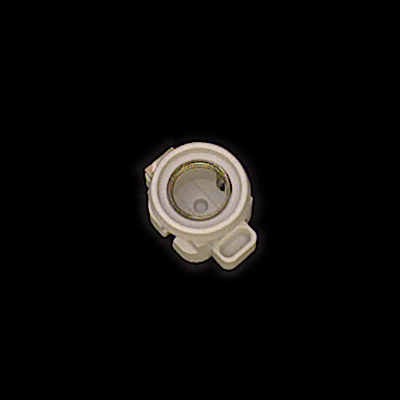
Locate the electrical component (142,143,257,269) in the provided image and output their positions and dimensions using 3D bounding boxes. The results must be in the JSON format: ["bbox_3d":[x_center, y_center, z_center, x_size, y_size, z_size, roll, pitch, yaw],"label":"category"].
[{"bbox_3d":[0.000,0.000,0.628,0.058,0.078,0.056,-41,-12,-11],"label":"electrical component"}]
